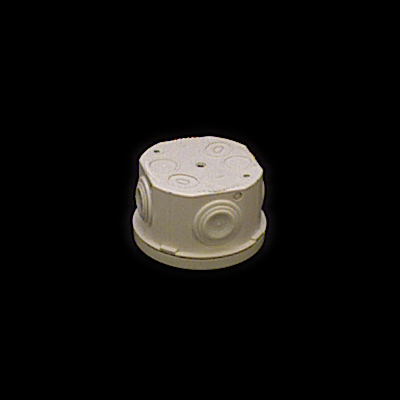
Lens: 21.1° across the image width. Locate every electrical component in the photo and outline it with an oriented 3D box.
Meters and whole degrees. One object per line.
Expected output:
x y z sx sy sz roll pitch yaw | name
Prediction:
0.000 0.000 0.637 0.080 0.051 0.079 1 31 -1 | electrical component
